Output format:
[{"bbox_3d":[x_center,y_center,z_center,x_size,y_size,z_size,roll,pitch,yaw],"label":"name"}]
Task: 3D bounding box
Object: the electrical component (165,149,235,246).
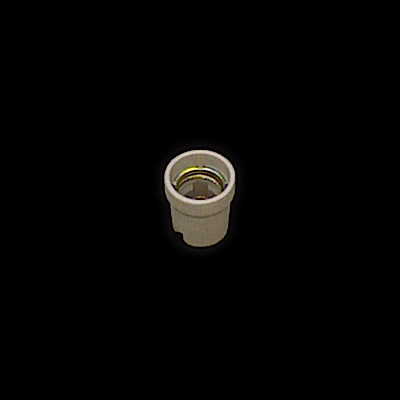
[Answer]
[{"bbox_3d":[0.000,0.000,0.630,0.040,0.040,0.046,0,-38,-1],"label":"electrical component"}]
